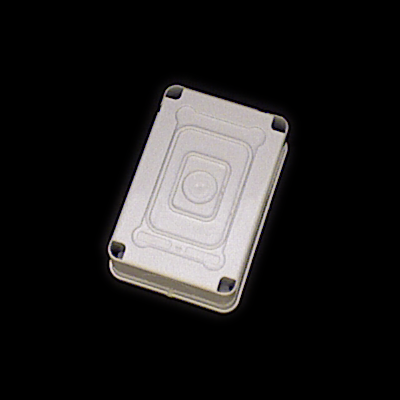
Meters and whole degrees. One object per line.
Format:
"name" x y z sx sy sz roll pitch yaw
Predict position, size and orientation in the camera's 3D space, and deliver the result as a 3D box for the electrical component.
"electrical component" 0.000 0.000 0.627 0.078 0.113 0.057 18 -16 5
